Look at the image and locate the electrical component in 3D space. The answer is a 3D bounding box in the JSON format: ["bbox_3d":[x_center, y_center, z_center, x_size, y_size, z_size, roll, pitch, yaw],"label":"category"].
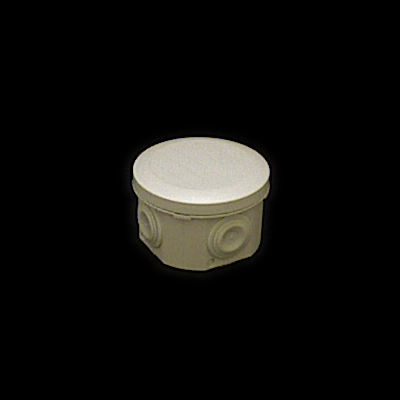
[{"bbox_3d":[0.000,0.000,0.635,0.080,0.051,0.079,1,31,0],"label":"electrical component"}]
